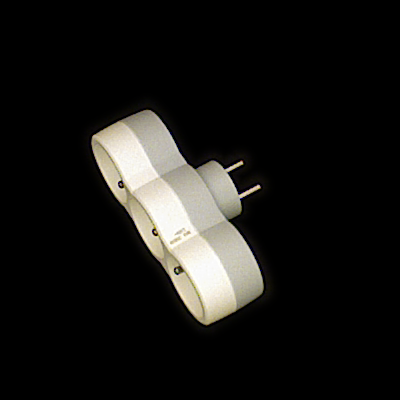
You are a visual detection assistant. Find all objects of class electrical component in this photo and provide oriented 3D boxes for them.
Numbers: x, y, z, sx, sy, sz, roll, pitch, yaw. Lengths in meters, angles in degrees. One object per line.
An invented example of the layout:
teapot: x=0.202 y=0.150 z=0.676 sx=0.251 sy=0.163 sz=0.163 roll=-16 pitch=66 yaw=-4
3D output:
electrical component: x=0.000 y=0.000 z=0.638 sx=0.074 sy=0.138 sz=0.052 roll=-28 pitch=-23 yaw=-15
